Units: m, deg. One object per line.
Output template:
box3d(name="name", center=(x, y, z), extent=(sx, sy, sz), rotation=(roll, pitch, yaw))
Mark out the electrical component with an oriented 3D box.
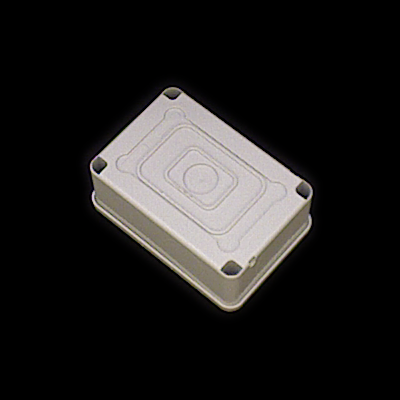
box3d(name="electrical component", center=(0.000, 0.000, 0.628), extent=(0.113, 0.078, 0.057), rotation=(37, -21, 18))
